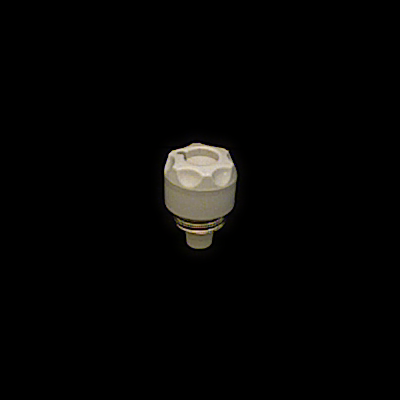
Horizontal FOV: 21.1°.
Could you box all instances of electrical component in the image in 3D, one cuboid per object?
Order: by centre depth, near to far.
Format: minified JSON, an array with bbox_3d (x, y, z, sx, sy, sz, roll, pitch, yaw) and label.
[{"bbox_3d":[0.000,0.000,0.642,0.043,0.063,0.043,2,32,0],"label":"electrical component"}]
